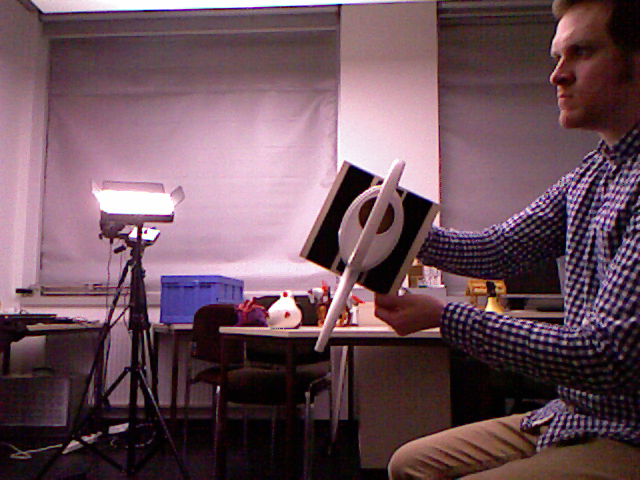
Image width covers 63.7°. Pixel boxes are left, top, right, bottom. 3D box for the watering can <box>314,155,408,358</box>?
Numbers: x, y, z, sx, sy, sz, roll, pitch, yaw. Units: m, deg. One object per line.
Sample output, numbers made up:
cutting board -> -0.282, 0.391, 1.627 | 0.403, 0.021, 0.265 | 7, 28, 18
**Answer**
watering can -> 0.065, 0.017, 0.893 | 0.104, 0.348, 0.226 | 24, 3, 0
